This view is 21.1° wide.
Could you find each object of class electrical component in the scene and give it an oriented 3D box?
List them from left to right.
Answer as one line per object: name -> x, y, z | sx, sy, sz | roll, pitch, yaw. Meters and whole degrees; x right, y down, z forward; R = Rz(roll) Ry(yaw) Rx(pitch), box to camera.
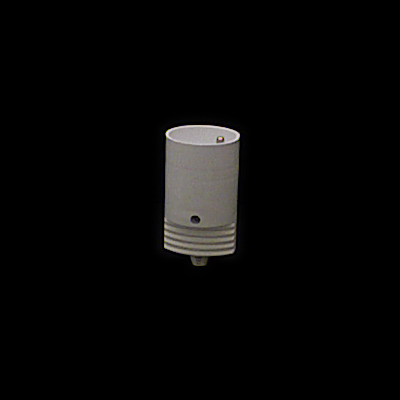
electrical component -> 0.000, 0.000, 0.637 | 0.043, 0.082, 0.042 | 1, 22, 0
